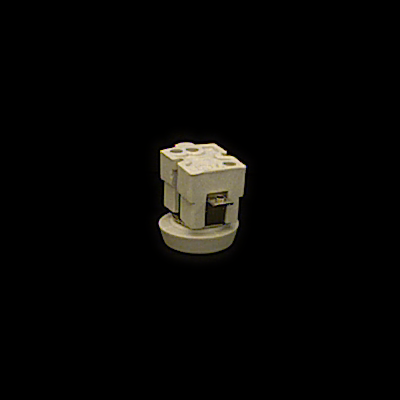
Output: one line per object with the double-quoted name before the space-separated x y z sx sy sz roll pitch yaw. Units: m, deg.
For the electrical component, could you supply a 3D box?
"electrical component" 0.000 0.000 0.647 0.049 0.056 0.065 -8 25 -25
